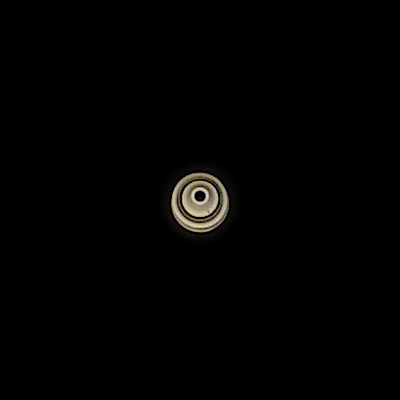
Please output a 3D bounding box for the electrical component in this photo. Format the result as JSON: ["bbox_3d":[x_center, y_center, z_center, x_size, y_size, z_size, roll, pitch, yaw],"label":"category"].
[{"bbox_3d":[0.000,0.000,0.637,0.035,0.035,0.061,0,-5,-1],"label":"electrical component"}]
